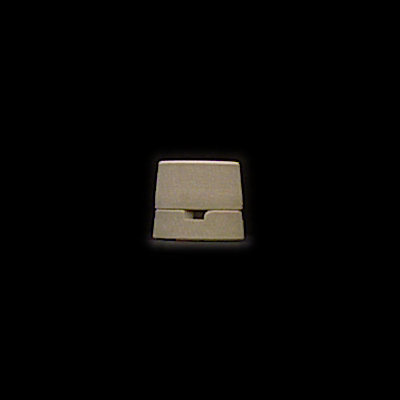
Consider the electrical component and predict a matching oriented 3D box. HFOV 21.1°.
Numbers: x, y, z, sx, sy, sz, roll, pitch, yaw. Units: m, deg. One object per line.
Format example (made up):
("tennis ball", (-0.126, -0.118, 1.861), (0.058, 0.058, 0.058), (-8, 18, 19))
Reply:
("electrical component", (0.000, 0.000, 0.649), (0.055, 0.047, 0.055), (0, 1, 0))
